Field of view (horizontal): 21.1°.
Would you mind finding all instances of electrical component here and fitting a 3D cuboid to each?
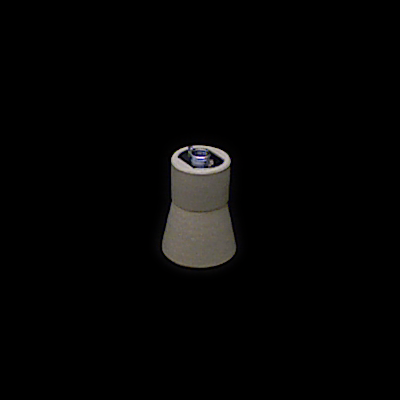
[{"bbox_3d":[0.000,0.000,0.633,0.044,0.066,0.044,1,31,-1],"label":"electrical component"}]
